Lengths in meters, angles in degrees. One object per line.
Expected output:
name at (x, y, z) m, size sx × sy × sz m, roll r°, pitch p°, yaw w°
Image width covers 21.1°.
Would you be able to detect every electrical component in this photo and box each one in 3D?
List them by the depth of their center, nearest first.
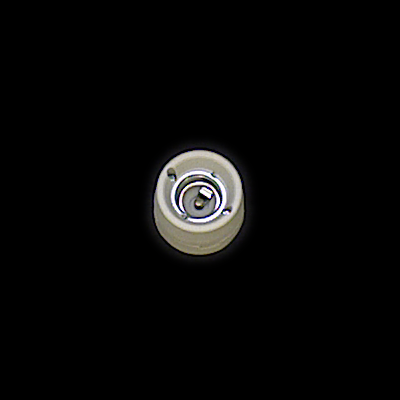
electrical component at (0.000, 0.000, 0.632) m, size 0.055 × 0.056 × 0.047 m, roll 0°, pitch -16°, yaw -1°
